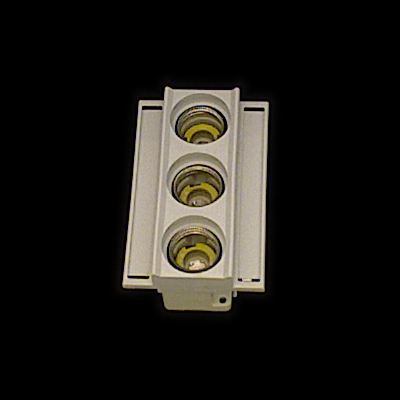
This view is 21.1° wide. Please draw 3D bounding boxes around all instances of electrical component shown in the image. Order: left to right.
[{"bbox_3d":[0.000,0.000,0.637,0.079,0.121,0.063,2,-26,3],"label":"electrical component"}]
